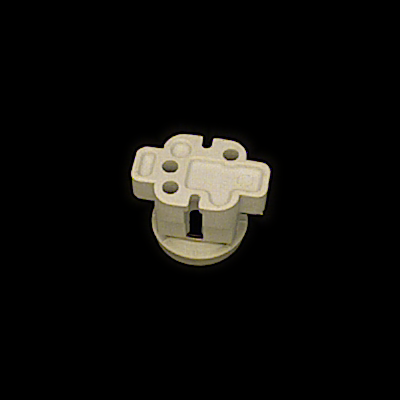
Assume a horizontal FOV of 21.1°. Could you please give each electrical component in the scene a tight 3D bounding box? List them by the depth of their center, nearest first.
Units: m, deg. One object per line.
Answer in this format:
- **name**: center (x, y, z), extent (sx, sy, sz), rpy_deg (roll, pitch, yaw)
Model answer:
- **electrical component**: center (0.000, 0.000, 0.638), extent (0.078, 0.057, 0.057), rpy_deg (8, -38, 3)
